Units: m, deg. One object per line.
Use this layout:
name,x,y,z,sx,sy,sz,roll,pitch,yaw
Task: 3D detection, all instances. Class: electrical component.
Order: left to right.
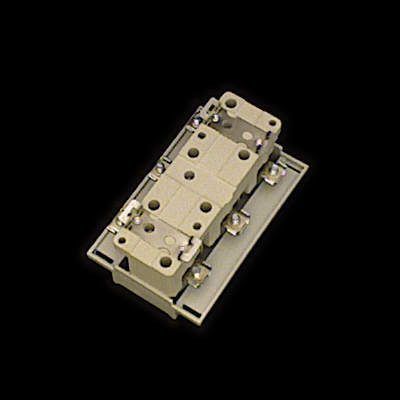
electrical component,0.000,0.000,0.633,0.078,0.122,0.063,30,-23,13
